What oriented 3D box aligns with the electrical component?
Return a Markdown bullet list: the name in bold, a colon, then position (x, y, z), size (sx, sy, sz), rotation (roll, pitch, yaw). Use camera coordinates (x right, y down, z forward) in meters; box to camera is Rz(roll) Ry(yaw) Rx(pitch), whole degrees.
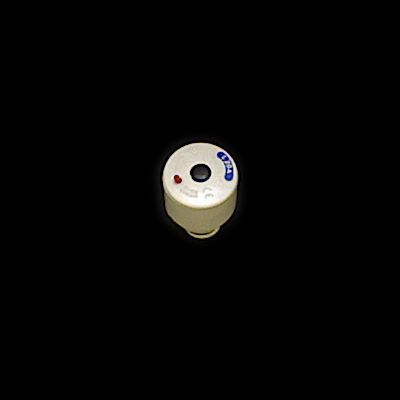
- **electrical component**: position (0.000, 0.000, 0.618), size (0.040, 0.040, 0.078), rotation (0, -27, 1)
